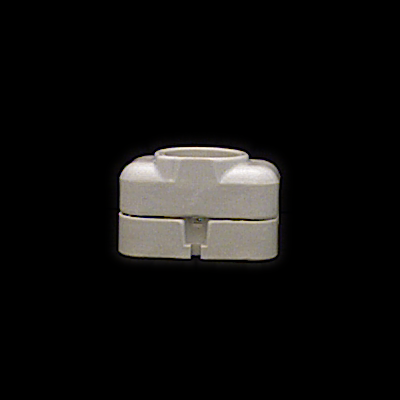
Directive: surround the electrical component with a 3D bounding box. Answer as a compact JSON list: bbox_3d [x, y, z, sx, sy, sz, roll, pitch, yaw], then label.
[{"bbox_3d":[0.000,0.000,0.649,0.095,0.060,0.053,2,11,4],"label":"electrical component"}]
